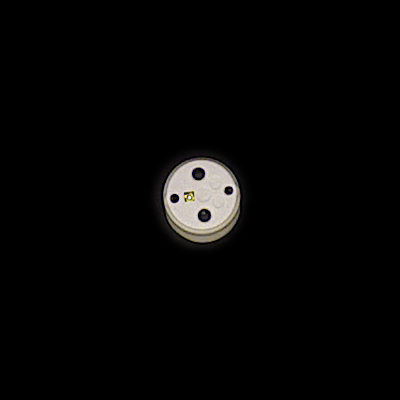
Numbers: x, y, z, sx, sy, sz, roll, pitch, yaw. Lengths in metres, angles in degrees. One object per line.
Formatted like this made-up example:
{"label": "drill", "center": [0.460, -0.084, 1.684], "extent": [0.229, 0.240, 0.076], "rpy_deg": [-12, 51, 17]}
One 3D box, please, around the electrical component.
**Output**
{"label": "electrical component", "center": [0.000, 0.000, 0.629], "extent": [0.045, 0.045, 0.055], "rpy_deg": [0, -7, 0]}
